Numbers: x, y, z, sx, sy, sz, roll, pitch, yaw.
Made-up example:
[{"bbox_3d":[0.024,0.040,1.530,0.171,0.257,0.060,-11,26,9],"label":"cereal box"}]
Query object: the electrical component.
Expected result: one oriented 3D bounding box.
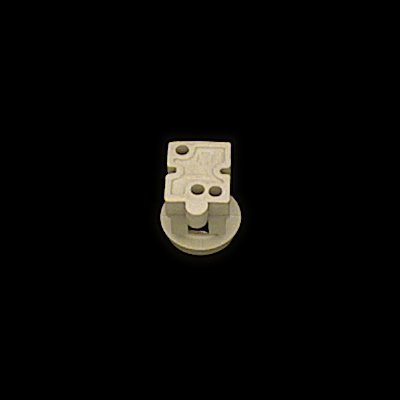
[{"bbox_3d":[0.000,0.000,0.638,0.048,0.066,0.055,1,-38,2],"label":"electrical component"}]
